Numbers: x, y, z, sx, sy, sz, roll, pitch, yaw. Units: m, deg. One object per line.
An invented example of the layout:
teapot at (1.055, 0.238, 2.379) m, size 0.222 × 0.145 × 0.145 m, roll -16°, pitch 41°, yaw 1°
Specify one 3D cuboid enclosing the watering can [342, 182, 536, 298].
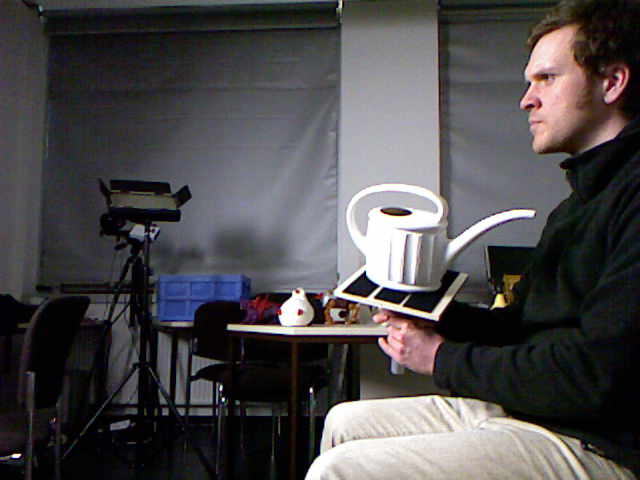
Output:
watering can at (0.201, 0.009, 0.955) m, size 0.349 × 0.221 × 0.106 m, roll 11°, pitch 27°, yaw 25°
